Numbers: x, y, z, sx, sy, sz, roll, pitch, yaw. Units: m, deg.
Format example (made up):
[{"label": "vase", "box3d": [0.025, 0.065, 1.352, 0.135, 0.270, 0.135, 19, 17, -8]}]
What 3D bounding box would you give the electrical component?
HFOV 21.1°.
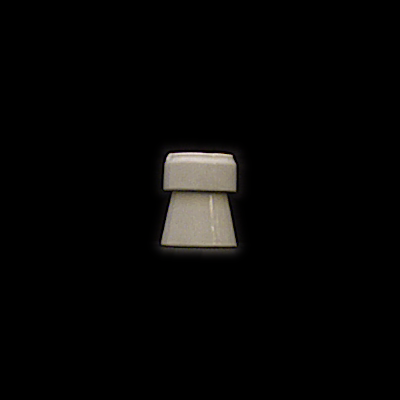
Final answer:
[{"label": "electrical component", "box3d": [0.000, 0.000, 0.651, 0.045, 0.055, 0.045, 2, 1, 0]}]
